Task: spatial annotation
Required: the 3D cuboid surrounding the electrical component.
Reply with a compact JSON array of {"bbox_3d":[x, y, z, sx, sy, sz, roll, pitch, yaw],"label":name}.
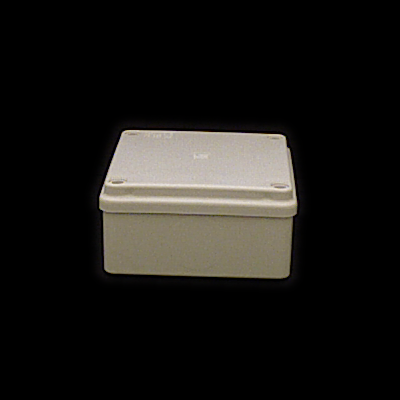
[{"bbox_3d":[0.000,0.000,0.638,0.109,0.057,0.107,2,21,1],"label":"electrical component"}]
